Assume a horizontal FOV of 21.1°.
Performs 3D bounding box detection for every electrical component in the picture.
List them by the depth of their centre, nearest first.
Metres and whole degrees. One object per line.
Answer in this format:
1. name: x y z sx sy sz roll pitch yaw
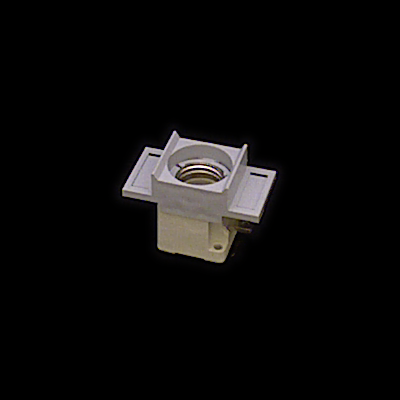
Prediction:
1. electrical component: 0.000 0.000 0.629 0.081 0.064 0.042 12 42 13
